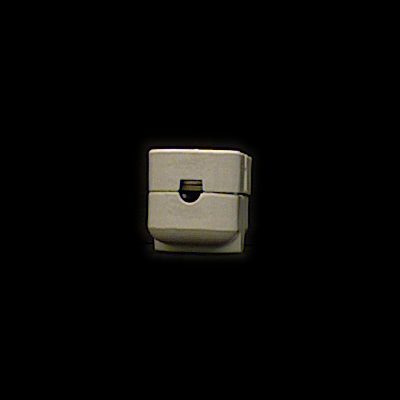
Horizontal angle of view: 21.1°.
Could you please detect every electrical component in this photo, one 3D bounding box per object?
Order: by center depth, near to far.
[{"bbox_3d":[0.000,0.000,0.658,0.053,0.059,0.095,1,0,7],"label":"electrical component"}]
